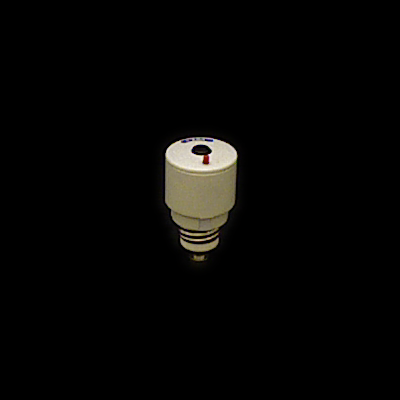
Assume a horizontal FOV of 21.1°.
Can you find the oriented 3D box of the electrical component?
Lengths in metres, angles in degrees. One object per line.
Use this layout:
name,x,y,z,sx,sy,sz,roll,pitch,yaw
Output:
electrical component,0.000,0.000,0.627,0.040,0.079,0.039,1,32,0
